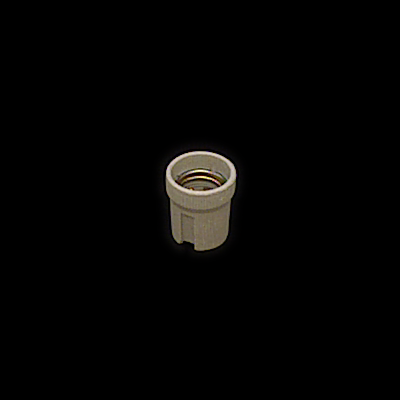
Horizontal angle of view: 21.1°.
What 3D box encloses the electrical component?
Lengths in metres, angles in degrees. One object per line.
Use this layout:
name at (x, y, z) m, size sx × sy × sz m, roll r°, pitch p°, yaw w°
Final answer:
electrical component at (0.000, 0.000, 0.635) m, size 0.040 × 0.047 × 0.039 m, roll 1°, pitch 42°, yaw 0°
